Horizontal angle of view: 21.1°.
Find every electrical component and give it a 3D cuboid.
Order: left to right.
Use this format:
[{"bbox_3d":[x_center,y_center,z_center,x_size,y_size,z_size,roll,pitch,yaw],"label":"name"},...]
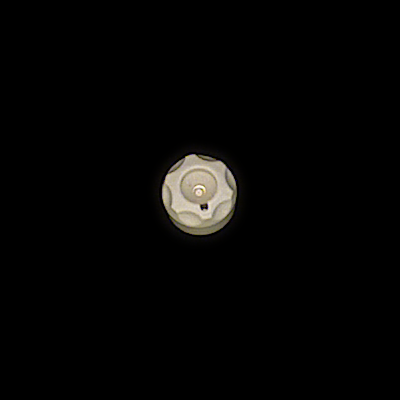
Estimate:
[{"bbox_3d":[0.000,0.000,0.634,0.043,0.043,0.062,0,-17,1],"label":"electrical component"}]
